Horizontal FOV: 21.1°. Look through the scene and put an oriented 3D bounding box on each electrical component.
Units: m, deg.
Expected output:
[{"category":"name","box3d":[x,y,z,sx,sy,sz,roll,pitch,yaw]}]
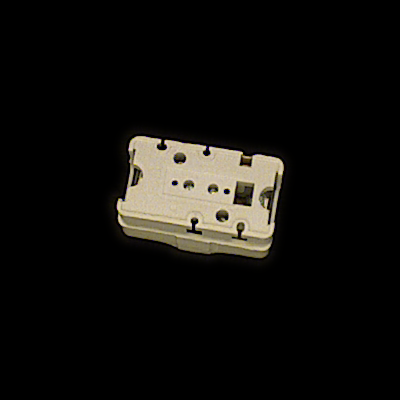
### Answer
[{"category":"electrical component","box3d":[0.000,0.000,0.636,0.089,0.050,0.055,10,-16,3]}]
